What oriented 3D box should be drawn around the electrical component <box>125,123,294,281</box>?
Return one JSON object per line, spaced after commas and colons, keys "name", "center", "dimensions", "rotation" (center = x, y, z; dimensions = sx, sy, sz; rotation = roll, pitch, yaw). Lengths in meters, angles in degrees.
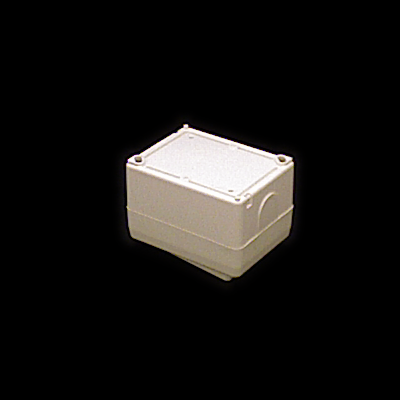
{"name": "electrical component", "center": [0.000, 0.000, 0.637], "dimensions": [0.095, 0.061, 0.061], "rotation": [20, 36, 29]}
